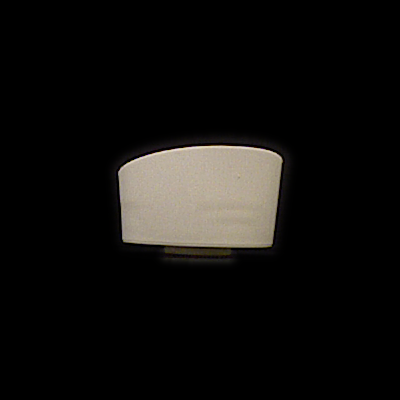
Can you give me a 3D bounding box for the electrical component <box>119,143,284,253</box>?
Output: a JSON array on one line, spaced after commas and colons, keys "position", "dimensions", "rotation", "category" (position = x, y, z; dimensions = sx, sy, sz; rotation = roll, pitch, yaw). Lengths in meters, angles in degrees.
[{"position": [0.000, 0.000, 0.649], "dimensions": [0.099, 0.064, 0.099], "rotation": [2, 0, 0], "category": "electrical component"}]
